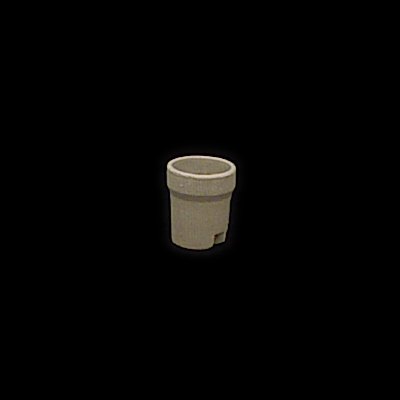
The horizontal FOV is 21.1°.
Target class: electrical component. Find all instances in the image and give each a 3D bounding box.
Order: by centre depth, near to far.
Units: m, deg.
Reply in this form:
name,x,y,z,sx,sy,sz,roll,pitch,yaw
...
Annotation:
name,x,y,z,sx,sy,sz,roll,pitch,yaw
electrical component,0.000,0.000,0.639,0.040,0.047,0.039,1,21,0
